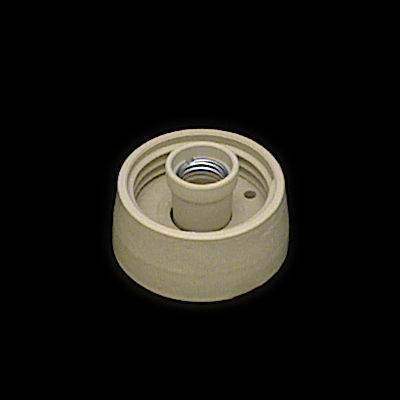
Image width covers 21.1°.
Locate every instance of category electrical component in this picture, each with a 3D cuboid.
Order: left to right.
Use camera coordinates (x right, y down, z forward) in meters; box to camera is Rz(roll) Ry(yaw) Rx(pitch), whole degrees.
[{"bbox_3d":[0.000,0.000,0.637,0.108,0.061,0.107,1,42,0],"label":"electrical component"}]
